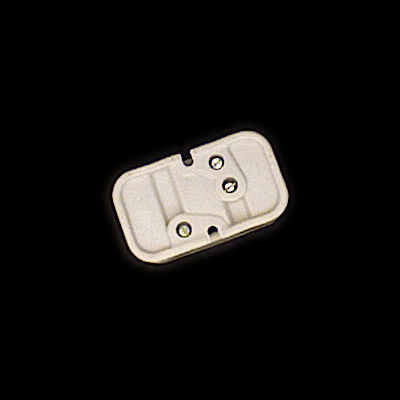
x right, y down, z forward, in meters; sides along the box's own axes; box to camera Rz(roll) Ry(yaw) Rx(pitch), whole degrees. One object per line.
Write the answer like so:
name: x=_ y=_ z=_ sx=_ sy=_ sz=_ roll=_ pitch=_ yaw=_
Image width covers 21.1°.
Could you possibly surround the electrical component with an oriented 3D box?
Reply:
electrical component: x=0.000 y=0.000 z=0.637 sx=0.095 sy=0.054 sz=0.059 roll=-20 pitch=-6 yaw=-1
